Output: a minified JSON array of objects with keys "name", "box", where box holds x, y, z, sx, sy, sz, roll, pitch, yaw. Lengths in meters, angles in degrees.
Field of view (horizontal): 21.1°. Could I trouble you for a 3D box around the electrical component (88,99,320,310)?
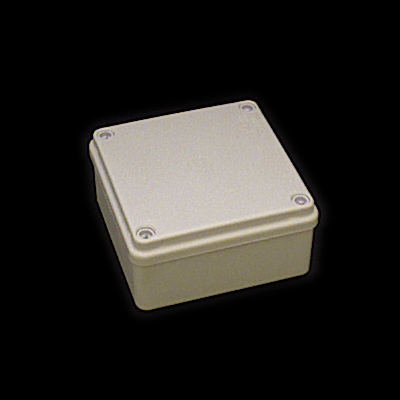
[{"name":"electrical component","box":[0.000,0.000,0.631,0.109,0.056,0.107,-12,44,-13]}]
